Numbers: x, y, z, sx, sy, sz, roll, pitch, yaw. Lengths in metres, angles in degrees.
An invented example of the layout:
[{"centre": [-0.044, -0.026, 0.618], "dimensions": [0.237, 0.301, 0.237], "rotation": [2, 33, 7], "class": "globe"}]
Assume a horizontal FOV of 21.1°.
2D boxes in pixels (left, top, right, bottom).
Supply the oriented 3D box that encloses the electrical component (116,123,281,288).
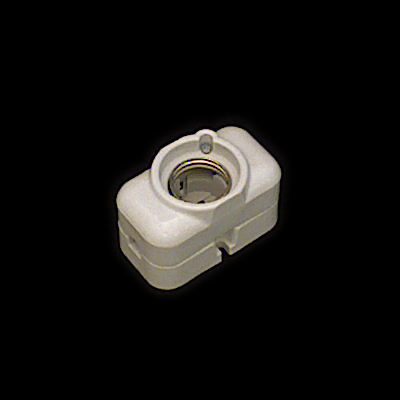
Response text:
[{"centre": [0.000, 0.000, 0.636], "dimensions": [0.095, 0.053, 0.059], "rotation": [-31, -30, -22], "class": "electrical component"}]
